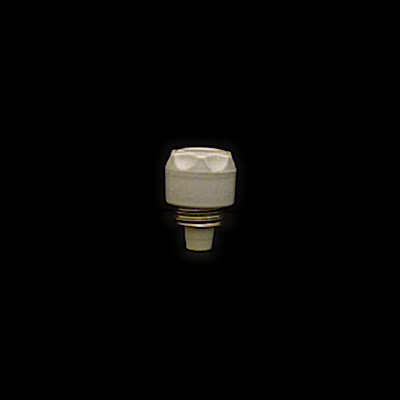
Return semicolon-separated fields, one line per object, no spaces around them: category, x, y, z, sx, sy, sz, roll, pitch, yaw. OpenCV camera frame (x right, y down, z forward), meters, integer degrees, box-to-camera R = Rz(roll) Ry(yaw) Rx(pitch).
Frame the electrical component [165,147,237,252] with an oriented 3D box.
electrical component;0.000;0.000;0.652;0.043;0.062;0.043;2;11;0
